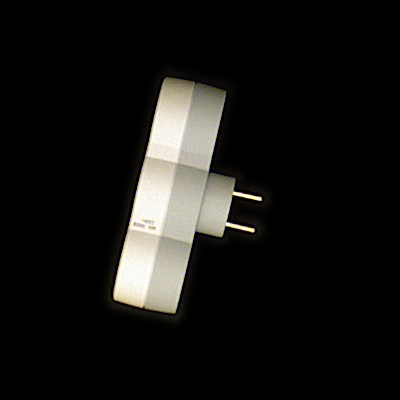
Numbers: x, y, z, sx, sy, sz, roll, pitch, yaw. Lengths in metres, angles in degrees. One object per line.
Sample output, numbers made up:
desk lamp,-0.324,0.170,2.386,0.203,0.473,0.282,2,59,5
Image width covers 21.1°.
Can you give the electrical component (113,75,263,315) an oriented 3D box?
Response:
electrical component,0.000,0.000,0.639,0.074,0.138,0.052,13,-6,0
